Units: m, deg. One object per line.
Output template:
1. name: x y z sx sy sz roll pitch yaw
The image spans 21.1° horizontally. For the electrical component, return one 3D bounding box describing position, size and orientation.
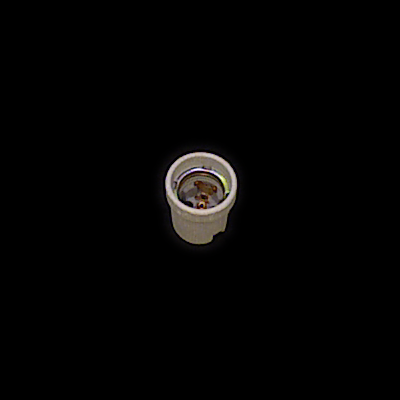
1. electrical component: 0.000 0.000 0.627 0.040 0.040 0.046 0 -27 0
